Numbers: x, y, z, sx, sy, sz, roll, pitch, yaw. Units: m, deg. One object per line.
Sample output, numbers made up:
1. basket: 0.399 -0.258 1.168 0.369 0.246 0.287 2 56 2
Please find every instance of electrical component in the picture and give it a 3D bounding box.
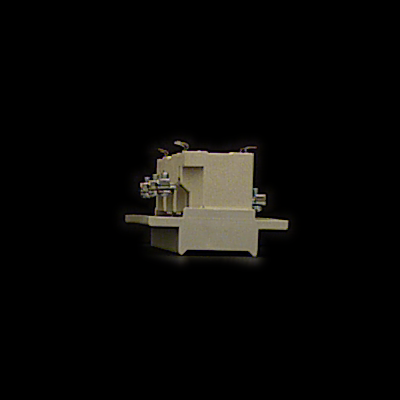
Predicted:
1. electrical component: 0.000 0.000 0.658 0.079 0.063 0.121 2 0 -10
